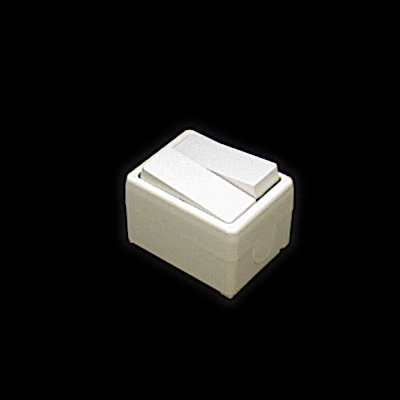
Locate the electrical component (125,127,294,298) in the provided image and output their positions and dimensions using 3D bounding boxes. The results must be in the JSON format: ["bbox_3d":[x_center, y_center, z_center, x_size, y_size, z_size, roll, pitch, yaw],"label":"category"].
[{"bbox_3d":[0.000,0.000,0.632,0.095,0.061,0.061,28,48,27],"label":"electrical component"}]
